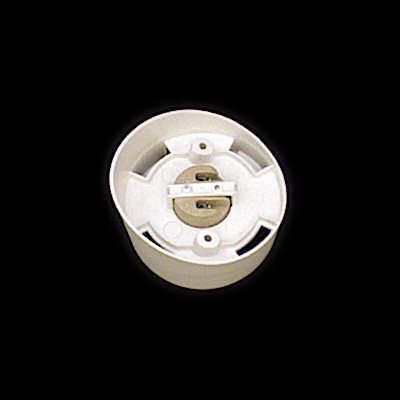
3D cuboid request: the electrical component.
[{"bbox_3d":[0.000,0.000,0.624,0.099,0.099,0.064,0,-27,0],"label":"electrical component"}]
